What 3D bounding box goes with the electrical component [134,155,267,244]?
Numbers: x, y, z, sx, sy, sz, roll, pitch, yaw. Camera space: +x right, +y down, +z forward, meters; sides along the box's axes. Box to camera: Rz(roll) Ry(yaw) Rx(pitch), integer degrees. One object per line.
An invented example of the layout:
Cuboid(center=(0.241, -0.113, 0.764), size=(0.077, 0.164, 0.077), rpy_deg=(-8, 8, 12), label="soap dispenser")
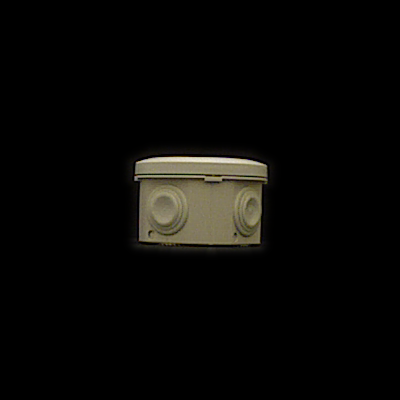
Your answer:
Cuboid(center=(0.000, 0.000, 0.650), size=(0.080, 0.051, 0.080), rpy_deg=(1, 0, 0), label="electrical component")
